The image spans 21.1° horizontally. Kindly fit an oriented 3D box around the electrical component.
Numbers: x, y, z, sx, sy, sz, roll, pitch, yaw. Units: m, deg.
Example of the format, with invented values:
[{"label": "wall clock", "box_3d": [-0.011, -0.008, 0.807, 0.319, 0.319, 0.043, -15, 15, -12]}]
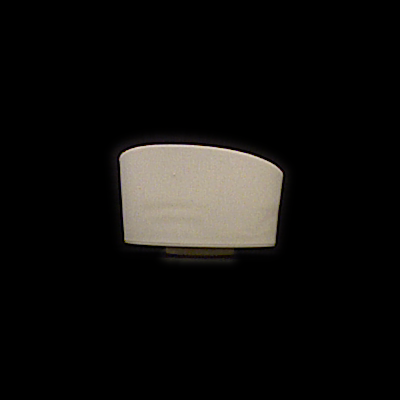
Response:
[{"label": "electrical component", "box_3d": [0.000, 0.000, 0.649, 0.099, 0.064, 0.099, 1, 1, 0]}]
